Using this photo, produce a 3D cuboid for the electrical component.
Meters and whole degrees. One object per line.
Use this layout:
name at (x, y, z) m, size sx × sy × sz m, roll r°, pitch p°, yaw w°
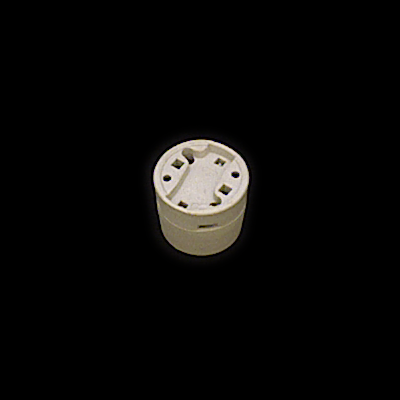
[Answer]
electrical component at (0.000, 0.000, 0.633) m, size 0.055 × 0.055 × 0.047 m, roll 0°, pitch -38°, yaw 0°
